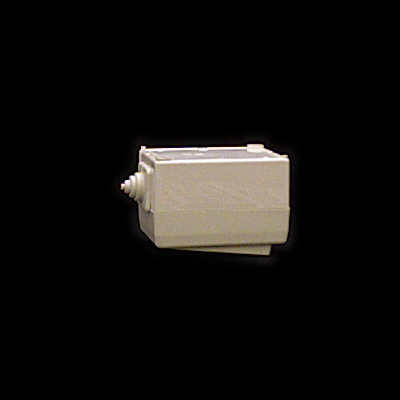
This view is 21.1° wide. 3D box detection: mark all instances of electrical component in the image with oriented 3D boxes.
[{"bbox_3d":[0.000,0.000,0.646,0.096,0.061,0.061,-2,11,-13],"label":"electrical component"}]
